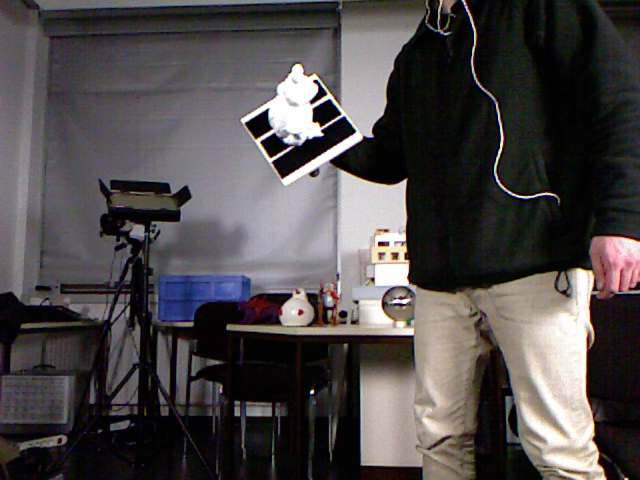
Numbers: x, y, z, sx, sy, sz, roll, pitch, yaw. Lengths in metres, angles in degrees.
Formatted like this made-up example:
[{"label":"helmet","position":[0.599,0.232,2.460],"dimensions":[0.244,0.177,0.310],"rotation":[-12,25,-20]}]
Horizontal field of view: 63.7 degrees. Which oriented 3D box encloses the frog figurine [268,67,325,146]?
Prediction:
[{"label":"frog figurine","position":[-0.058,-0.282,1.095],"dimensions":[0.123,0.140,0.157],"rotation":[-14,-21,3]}]
